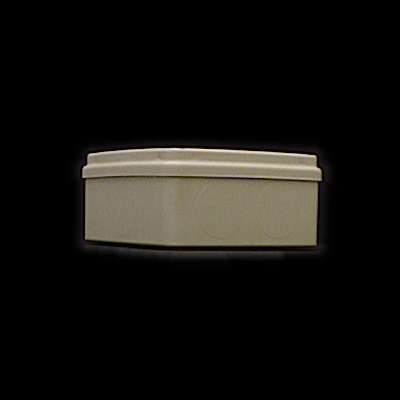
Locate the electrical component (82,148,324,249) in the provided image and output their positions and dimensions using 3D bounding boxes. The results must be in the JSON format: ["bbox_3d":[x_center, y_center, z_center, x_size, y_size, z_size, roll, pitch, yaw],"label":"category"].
[{"bbox_3d":[0.000,0.000,0.648,0.109,0.056,0.108,1,0,-34],"label":"electrical component"}]
